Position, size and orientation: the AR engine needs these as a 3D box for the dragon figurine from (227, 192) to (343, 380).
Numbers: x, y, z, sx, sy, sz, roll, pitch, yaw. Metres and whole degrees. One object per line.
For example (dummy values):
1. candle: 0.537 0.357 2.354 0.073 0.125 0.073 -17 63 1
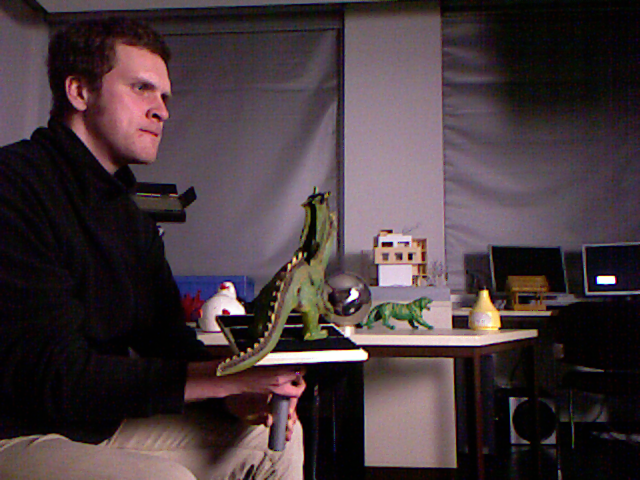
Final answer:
1. dragon figurine: -0.033 0.040 0.820 0.122 0.241 0.414 13 11 11
